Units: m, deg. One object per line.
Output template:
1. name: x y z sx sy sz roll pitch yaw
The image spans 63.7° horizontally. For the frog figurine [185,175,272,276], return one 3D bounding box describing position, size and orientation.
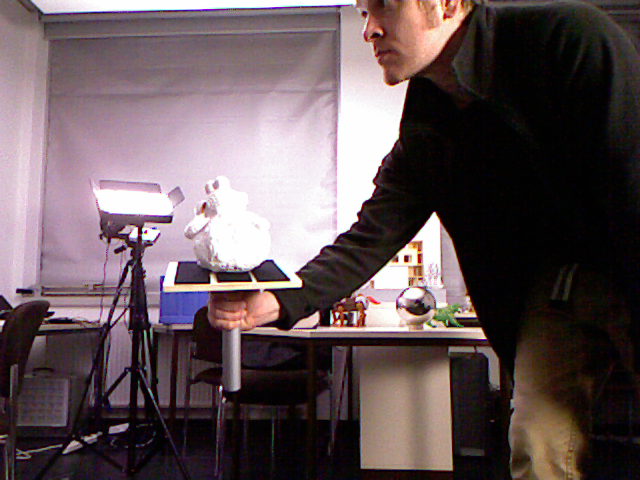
1. frog figurine: -0.150 -0.026 0.851 0.138 0.158 0.124 1 12 7
